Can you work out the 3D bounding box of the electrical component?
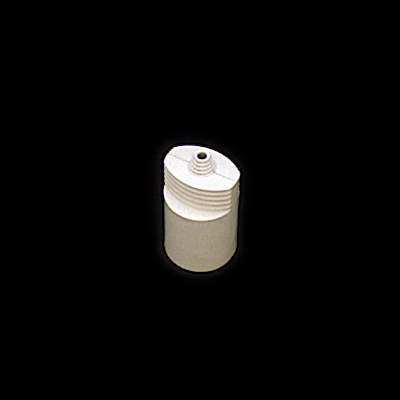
[{"bbox_3d":[0.000,0.000,0.619,0.043,0.043,0.081,0,-38,0],"label":"electrical component"}]
